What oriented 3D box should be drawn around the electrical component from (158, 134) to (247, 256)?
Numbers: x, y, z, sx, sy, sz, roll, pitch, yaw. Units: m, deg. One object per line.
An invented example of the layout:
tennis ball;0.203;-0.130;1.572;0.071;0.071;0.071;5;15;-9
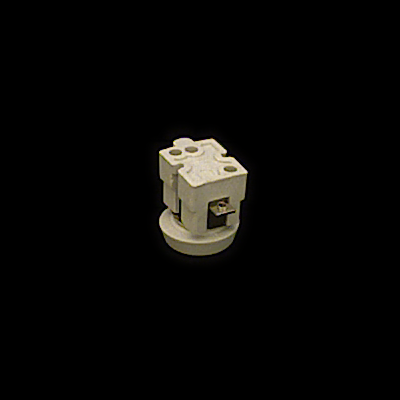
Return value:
electrical component;0.000;0.000;0.643;0.049;0.056;0.065;-14;36;-24
